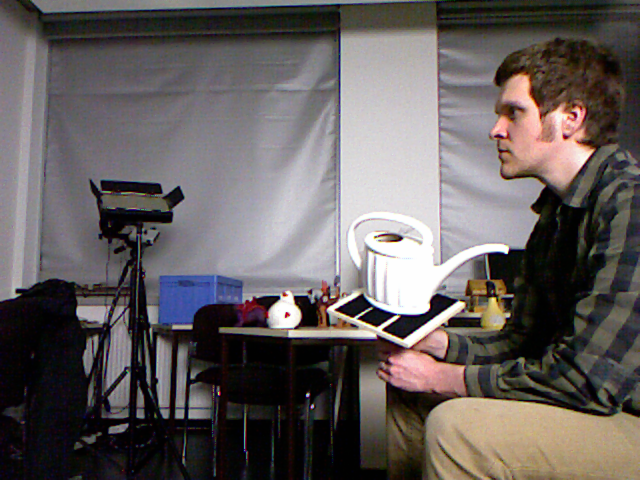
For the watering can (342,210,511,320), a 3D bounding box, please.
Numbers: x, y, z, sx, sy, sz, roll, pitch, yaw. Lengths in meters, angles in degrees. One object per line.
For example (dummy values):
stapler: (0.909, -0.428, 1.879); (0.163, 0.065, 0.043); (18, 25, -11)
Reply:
watering can: (0.189, 0.060, 1.011); (0.350, 0.221, 0.106); (15, 30, 35)
